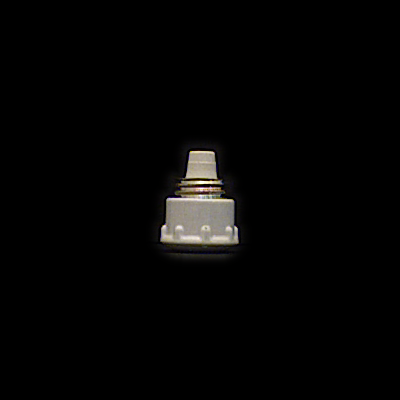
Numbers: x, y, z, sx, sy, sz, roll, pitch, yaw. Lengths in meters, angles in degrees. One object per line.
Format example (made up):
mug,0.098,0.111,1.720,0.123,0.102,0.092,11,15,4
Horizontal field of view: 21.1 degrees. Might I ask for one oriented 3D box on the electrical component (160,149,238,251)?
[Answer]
electrical component,0.000,0.000,0.658,0.048,0.062,0.048,2,1,1
